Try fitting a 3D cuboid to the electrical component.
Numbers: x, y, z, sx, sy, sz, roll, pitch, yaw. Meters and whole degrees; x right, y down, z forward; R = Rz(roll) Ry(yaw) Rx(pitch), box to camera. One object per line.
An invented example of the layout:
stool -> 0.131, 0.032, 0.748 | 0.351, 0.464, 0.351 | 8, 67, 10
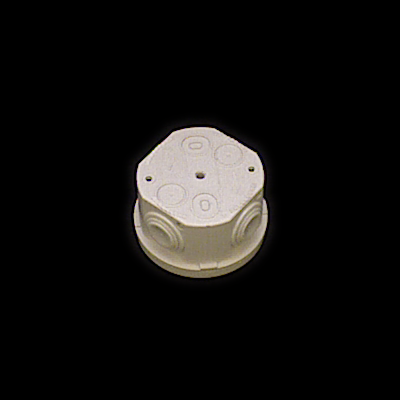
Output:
electrical component -> 0.000, 0.000, 0.632 | 0.080, 0.080, 0.051 | 0, -37, 0
